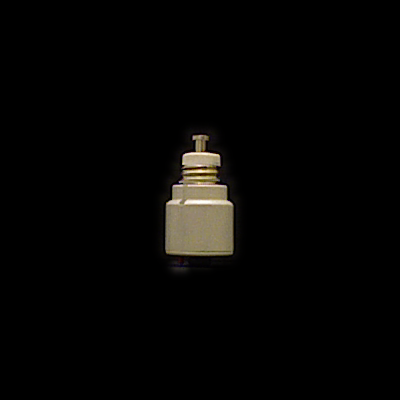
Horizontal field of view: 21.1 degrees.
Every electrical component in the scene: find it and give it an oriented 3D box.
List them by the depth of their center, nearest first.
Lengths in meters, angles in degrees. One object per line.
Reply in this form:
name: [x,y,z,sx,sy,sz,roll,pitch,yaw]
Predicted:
electrical component: [0.000,0.000,0.651,0.040,0.078,0.040,1,2,0]
